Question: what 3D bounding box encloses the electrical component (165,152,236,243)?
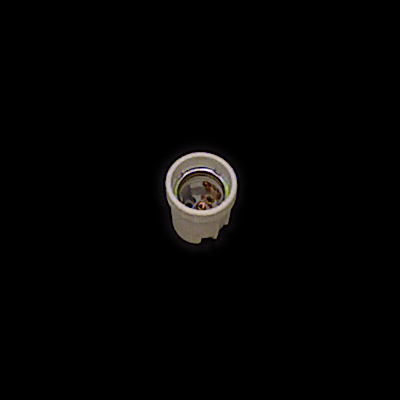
[{"bbox_3d":[0.000,0.000,0.627,0.040,0.040,0.046,0,-27,0],"label":"electrical component"}]
